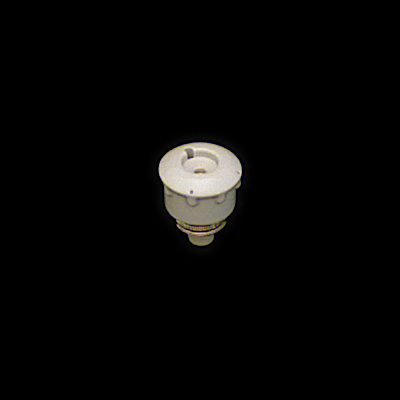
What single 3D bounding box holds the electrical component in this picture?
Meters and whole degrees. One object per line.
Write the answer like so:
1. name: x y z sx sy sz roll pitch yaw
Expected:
1. electrical component: 0.000 0.000 0.636 0.048 0.062 0.047 1 42 0
